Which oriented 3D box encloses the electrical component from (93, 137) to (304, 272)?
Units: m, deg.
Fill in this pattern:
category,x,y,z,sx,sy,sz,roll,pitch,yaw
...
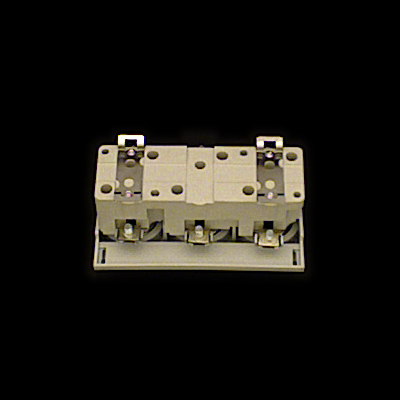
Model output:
category,x,y,z,sx,sy,sz,roll,pitch,yaw
electrical component,0.000,0.000,0.633,0.121,0.078,0.063,0,-36,0
